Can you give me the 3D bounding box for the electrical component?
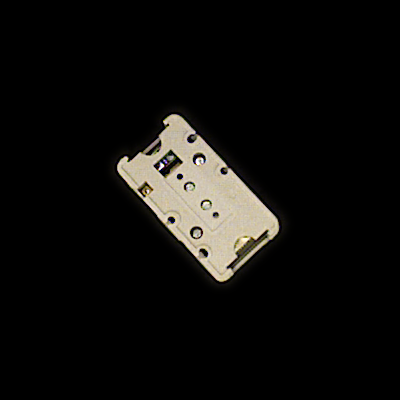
[{"bbox_3d":[0.000,0.000,0.637,0.050,0.089,0.055,-43,-5,-3],"label":"electrical component"}]
